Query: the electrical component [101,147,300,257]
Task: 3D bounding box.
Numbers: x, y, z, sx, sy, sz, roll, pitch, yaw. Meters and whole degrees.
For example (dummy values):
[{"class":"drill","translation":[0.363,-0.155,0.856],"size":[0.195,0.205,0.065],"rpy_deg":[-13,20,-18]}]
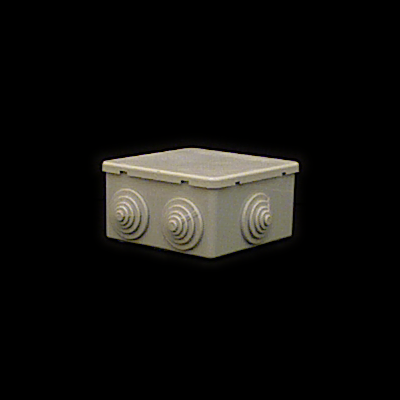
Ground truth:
[{"class":"electrical component","translation":[0.000,0.000,0.653],"size":[0.098,0.049,0.100],"rpy_deg":[10,14,37]}]
